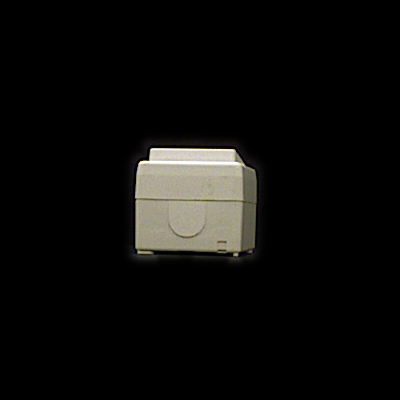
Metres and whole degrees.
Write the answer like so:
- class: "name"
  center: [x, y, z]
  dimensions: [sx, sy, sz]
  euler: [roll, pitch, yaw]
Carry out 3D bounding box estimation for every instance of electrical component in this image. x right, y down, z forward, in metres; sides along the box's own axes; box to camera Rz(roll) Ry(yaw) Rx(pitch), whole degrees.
- class: "electrical component"
  center: [0.000, 0.000, 0.652]
  dimensions: [0.062, 0.061, 0.096]
  euler: [1, 0, 9]
